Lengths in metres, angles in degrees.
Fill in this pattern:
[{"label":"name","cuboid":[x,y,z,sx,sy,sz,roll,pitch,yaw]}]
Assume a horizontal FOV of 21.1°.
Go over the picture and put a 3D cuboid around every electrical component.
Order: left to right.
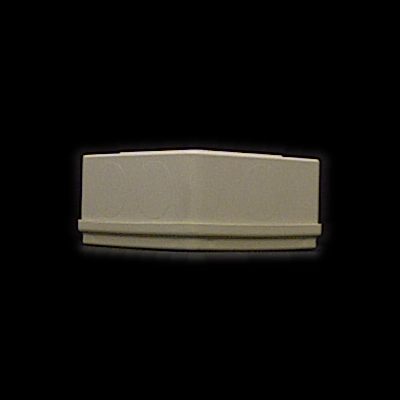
[{"label":"electrical component","cuboid":[0.000,0.000,0.647,0.109,0.056,0.108,1,0,-42]}]
